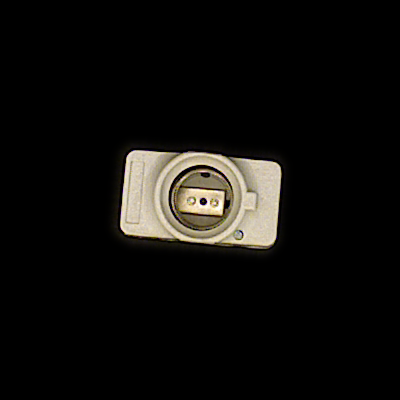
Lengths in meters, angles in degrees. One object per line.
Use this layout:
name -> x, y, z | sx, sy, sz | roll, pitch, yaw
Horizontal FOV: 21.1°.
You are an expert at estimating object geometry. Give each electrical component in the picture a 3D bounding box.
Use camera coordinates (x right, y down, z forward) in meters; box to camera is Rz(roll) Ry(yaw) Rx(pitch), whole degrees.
electrical component -> 0.000, 0.000, 0.637 | 0.089, 0.050, 0.055 | 4, -5, 1
